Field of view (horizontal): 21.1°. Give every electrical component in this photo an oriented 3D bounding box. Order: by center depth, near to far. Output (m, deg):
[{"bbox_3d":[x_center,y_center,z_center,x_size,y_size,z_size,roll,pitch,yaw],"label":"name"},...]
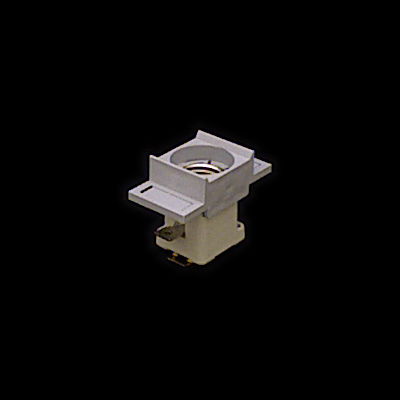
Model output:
[{"bbox_3d":[0.000,0.000,0.630,0.042,0.064,0.080,25,38,33],"label":"electrical component"}]
